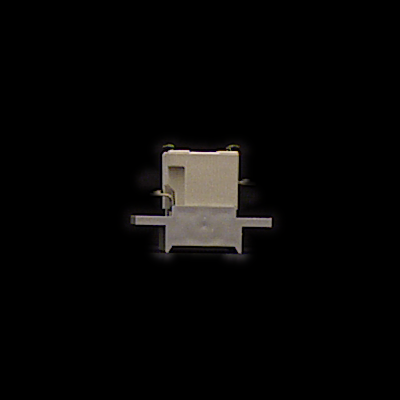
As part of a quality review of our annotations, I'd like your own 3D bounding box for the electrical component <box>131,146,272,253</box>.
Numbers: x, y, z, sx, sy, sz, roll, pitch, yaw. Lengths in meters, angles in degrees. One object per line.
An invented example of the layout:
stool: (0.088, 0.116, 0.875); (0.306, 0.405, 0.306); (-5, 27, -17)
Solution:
electrical component: (0.000, 0.000, 0.649); (0.081, 0.064, 0.042); (1, 1, -9)
